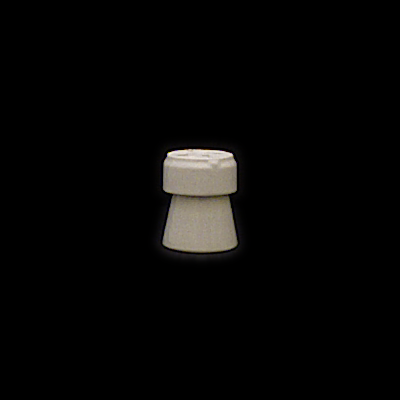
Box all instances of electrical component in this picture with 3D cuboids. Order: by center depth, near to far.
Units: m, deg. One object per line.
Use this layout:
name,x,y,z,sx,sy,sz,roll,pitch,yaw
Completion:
electrical component,0.000,0.000,0.644,0.045,0.055,0.044,1,11,0
